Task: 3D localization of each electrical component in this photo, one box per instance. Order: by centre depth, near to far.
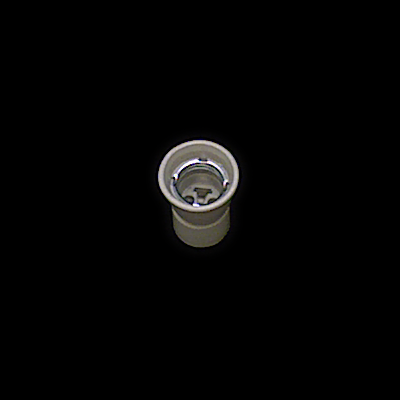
[{"bbox_3d":[0.000,0.000,0.624,0.044,0.044,0.065,0,-27,1],"label":"electrical component"}]
